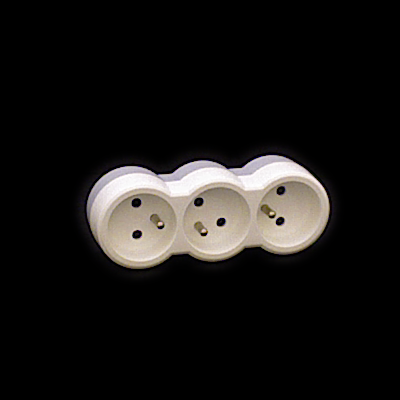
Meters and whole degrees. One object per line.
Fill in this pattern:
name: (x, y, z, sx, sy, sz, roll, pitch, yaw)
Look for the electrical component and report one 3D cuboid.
electrical component: (0.000, 0.000, 0.639, 0.138, 0.053, 0.073, -5, 20, -15)
